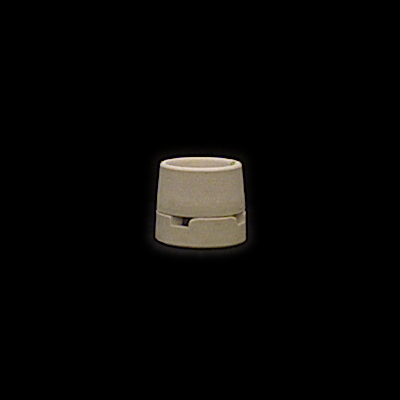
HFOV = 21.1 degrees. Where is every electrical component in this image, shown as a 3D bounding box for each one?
[{"bbox_3d":[0.000,0.000,0.645,0.055,0.047,0.055,0,11,0],"label":"electrical component"}]
